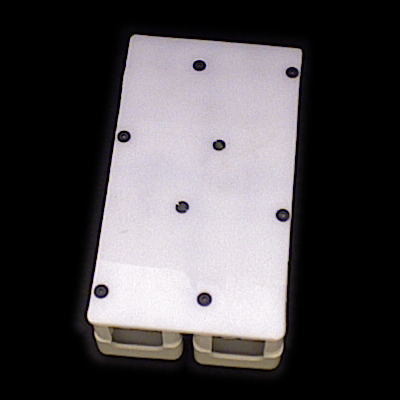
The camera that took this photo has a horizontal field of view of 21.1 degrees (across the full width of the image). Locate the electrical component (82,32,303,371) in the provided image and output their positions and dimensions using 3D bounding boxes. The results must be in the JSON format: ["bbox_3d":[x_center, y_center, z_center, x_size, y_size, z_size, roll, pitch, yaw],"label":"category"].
[{"bbox_3d":[0.000,0.000,0.625,0.105,0.186,0.060,5,-27,3],"label":"electrical component"}]
